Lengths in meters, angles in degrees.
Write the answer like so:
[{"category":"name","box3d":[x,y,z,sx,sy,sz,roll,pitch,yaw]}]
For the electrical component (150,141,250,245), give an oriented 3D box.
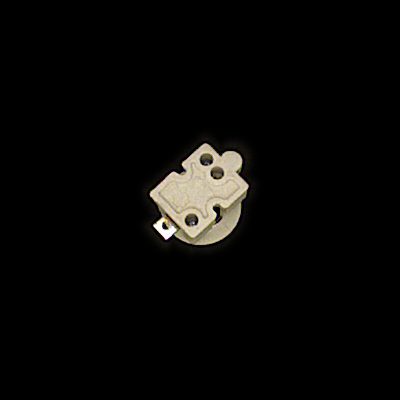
[{"category":"electrical component","box3d":[0.000,0.000,0.638,0.067,0.048,0.055,-42,-11,-10]}]
